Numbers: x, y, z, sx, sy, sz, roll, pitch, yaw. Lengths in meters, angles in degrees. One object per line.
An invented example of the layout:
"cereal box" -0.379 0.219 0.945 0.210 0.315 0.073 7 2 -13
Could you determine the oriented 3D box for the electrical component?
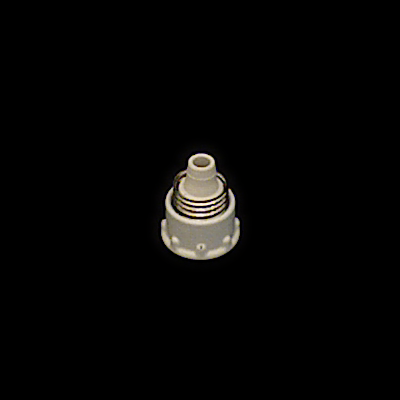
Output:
"electrical component" 0.000 0.000 0.639 0.048 0.062 0.047 1 42 0
